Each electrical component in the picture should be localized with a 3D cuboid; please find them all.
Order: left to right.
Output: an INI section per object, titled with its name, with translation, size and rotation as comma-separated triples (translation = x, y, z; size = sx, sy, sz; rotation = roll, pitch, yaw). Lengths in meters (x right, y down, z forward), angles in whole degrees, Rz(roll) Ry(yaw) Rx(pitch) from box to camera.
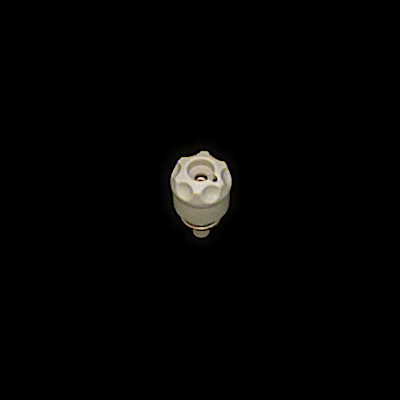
[electrical component]
translation = 0.000, 0.000, 0.634
size = 0.035, 0.035, 0.061
rotation = 0, -37, 0
